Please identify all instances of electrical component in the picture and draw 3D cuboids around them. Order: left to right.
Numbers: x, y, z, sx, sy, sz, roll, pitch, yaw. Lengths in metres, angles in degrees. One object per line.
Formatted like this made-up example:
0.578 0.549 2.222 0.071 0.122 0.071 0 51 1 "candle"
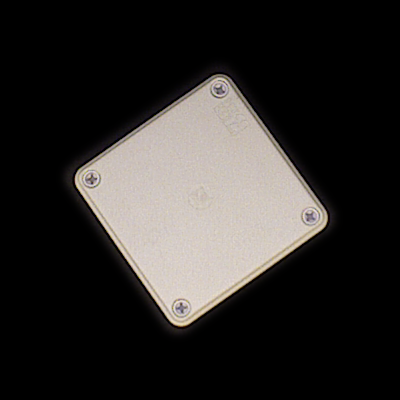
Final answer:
0.000 0.000 0.630 0.109 0.109 0.056 -35 -5 -3 "electrical component"
